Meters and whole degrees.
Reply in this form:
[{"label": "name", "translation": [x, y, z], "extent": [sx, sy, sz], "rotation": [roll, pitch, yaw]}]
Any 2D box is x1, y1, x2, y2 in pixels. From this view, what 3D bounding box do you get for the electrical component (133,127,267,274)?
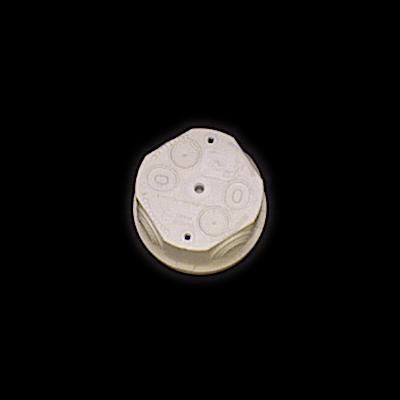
[{"label": "electrical component", "translation": [0.000, 0.000, 0.632], "extent": [0.080, 0.080, 0.050], "rotation": [0, -18, 0]}]
